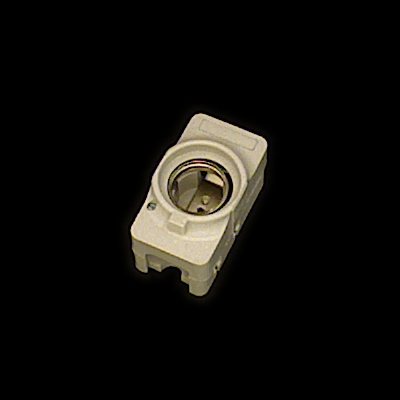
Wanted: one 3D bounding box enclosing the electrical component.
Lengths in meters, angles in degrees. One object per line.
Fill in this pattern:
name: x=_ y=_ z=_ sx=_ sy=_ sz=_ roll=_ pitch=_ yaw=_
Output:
electrical component: x=0.000 y=0.000 z=0.636 sx=0.050 sy=0.090 sz=0.055 roll=23 pitch=-25 yaw=11
